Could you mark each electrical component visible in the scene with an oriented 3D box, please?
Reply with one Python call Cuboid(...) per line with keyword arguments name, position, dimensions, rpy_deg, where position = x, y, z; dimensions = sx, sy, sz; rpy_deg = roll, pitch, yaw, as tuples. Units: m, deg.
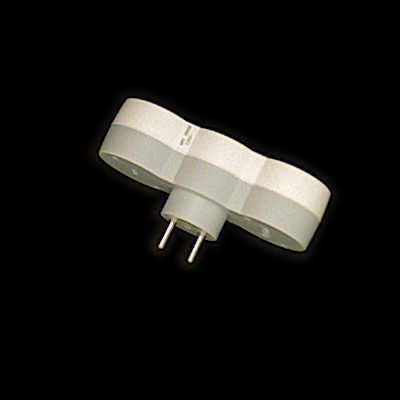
Cuboid(name="electrical component", position=(0.000, 0.000, 0.637), dimensions=(0.138, 0.074, 0.052), rpy_deg=(25, -13, 7))
